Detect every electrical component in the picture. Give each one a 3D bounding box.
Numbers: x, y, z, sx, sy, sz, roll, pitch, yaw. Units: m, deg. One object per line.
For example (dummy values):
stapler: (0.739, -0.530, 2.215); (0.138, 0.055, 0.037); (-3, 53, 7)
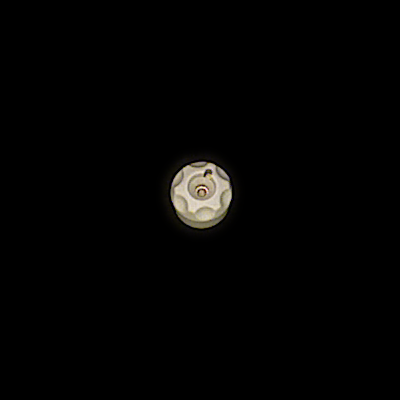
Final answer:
electrical component: (0.000, 0.000, 0.634); (0.035, 0.035, 0.061); (0, -16, 1)
